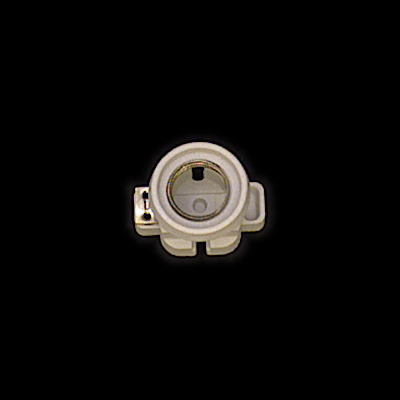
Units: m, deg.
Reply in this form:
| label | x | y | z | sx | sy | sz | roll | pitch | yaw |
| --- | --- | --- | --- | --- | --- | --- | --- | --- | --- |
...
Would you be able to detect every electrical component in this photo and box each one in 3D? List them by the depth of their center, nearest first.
| label | x | y | z | sx | sy | sz | roll | pitch | yaw |
| --- | --- | --- | --- | --- | --- | --- | --- | --- | --- |
| electrical component | 0.000 | 0.000 | 0.628 | 0.078 | 0.058 | 0.056 | -2 | -17 | -1 |
